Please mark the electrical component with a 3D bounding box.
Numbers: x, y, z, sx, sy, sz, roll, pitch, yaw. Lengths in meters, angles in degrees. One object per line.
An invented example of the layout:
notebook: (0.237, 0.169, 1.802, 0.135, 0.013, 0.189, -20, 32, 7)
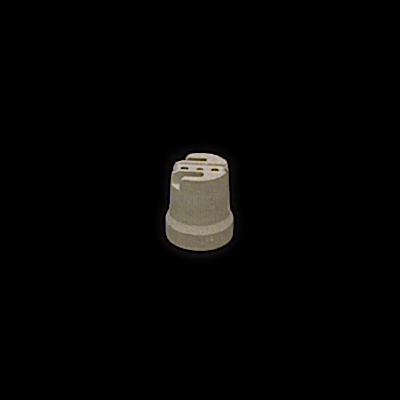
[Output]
electrical component: (0.000, 0.000, 0.639, 0.040, 0.046, 0.040, 1, 31, 0)
